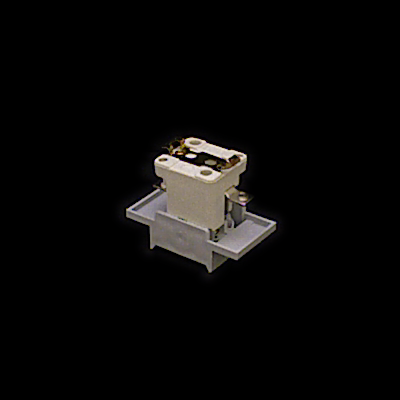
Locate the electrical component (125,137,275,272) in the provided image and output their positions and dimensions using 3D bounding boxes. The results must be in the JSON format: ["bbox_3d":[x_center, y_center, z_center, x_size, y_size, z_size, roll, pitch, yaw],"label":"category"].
[{"bbox_3d":[0.000,0.000,0.633,0.080,0.064,0.042,20,37,28],"label":"electrical component"}]
